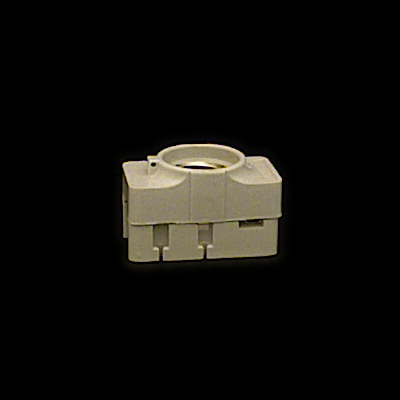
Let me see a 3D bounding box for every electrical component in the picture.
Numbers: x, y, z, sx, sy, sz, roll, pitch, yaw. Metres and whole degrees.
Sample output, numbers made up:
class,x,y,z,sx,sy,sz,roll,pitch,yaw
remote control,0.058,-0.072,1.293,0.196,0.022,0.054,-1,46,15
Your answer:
class,x,y,z,sx,sy,sz,roll,pitch,yaw
electrical component,0.000,0.000,0.647,0.090,0.056,0.049,-3,22,-10
